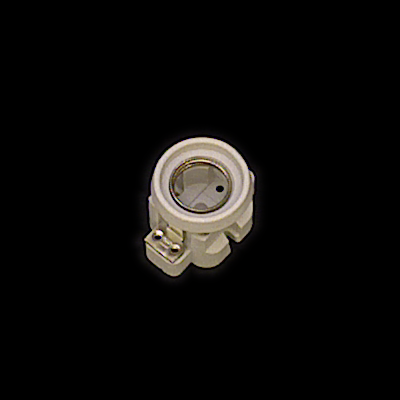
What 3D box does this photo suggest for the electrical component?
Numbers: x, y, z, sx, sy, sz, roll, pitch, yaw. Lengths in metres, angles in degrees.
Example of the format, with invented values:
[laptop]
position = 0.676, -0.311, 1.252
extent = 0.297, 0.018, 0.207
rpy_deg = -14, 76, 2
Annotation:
[electrical component]
position = 0.000, 0.000, 0.627
extent = 0.058, 0.079, 0.056
rpy_deg = 37, -21, 17
